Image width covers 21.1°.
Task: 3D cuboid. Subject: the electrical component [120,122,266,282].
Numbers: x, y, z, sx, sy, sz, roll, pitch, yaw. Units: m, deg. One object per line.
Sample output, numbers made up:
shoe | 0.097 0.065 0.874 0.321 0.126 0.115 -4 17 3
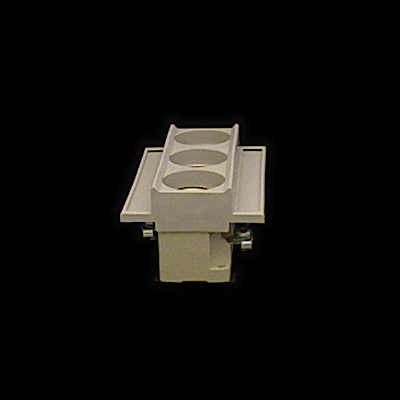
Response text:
electrical component | 0.000 0.000 0.650 0.079 0.064 0.119 1 21 4
